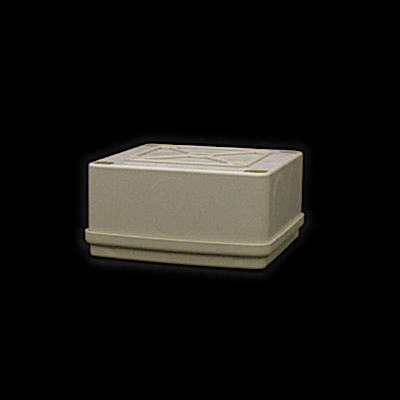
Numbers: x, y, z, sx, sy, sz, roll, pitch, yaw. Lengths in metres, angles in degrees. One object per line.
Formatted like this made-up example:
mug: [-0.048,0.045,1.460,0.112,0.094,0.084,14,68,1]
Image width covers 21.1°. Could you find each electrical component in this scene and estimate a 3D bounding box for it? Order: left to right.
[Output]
electrical component: [0.000,0.000,0.642,0.108,0.056,0.108,4,11,16]
